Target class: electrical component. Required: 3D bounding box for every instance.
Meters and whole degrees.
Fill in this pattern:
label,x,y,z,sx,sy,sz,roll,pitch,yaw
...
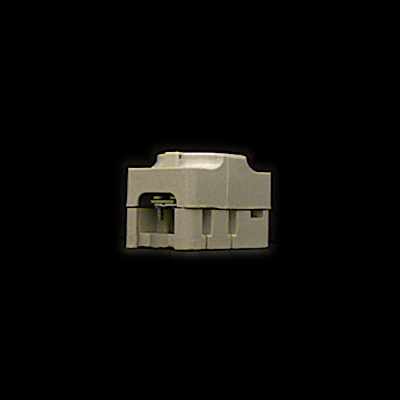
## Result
label,x,y,z,sx,sy,sz,roll,pitch,yaw
electrical component,0.000,0.000,0.657,0.049,0.056,0.090,2,1,34
